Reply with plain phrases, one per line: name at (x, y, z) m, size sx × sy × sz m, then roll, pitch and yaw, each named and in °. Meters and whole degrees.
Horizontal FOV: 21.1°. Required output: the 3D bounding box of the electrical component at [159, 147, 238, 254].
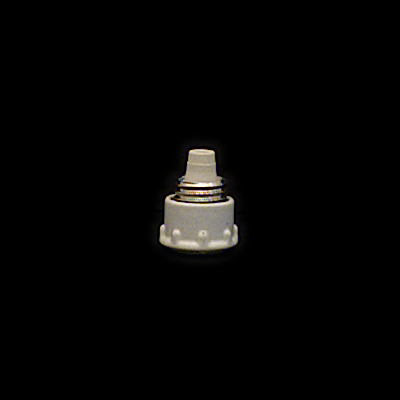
electrical component at (0.000, 0.000, 0.651) m, size 0.048 × 0.062 × 0.048 m, roll 2°, pitch 13°, yaw 0°
